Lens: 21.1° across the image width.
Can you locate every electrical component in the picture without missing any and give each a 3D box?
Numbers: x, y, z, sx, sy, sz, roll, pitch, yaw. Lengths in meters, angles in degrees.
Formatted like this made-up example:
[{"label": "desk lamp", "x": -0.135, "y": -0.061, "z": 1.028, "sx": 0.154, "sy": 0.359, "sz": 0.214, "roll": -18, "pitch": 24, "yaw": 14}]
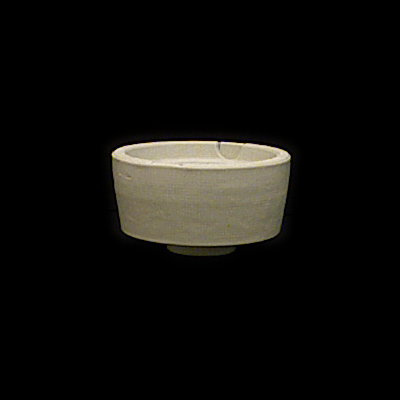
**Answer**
[{"label": "electrical component", "x": 0.000, "y": 0.000, "z": 0.655, "sx": 0.108, "sy": 0.061, "sz": 0.107, "roll": 1, "pitch": 11, "yaw": 0}]
